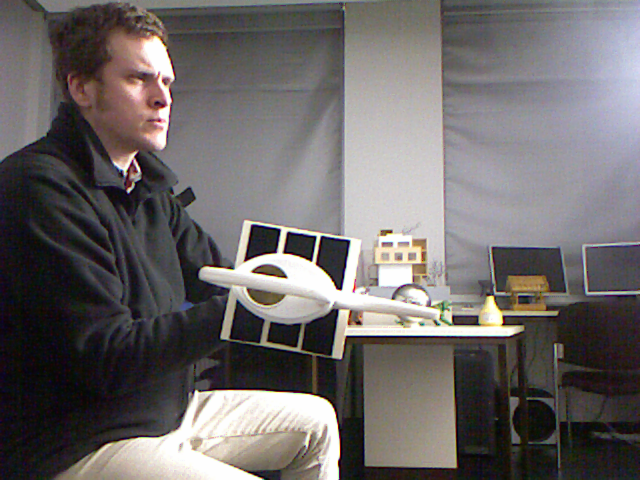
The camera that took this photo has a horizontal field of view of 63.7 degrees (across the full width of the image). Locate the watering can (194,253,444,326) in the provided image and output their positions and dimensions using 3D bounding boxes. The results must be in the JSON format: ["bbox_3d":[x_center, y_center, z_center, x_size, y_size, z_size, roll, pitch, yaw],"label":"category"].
[{"bbox_3d":[-0.007,0.081,0.770,0.349,0.105,0.224,11,-3,3],"label":"watering can"}]
